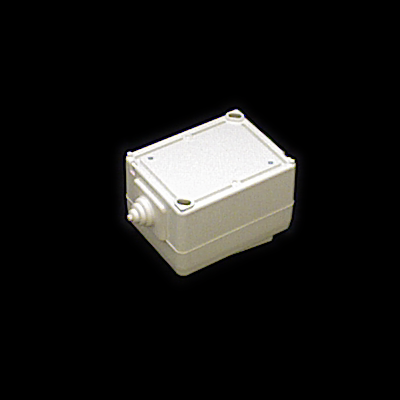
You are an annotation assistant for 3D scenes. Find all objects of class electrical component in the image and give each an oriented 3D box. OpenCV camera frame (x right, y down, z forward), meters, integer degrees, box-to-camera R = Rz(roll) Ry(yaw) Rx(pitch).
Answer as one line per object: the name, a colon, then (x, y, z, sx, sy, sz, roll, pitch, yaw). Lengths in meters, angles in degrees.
electrical component: (0.000, 0.000, 0.626, 0.096, 0.061, 0.061, -23, 47, -25)
